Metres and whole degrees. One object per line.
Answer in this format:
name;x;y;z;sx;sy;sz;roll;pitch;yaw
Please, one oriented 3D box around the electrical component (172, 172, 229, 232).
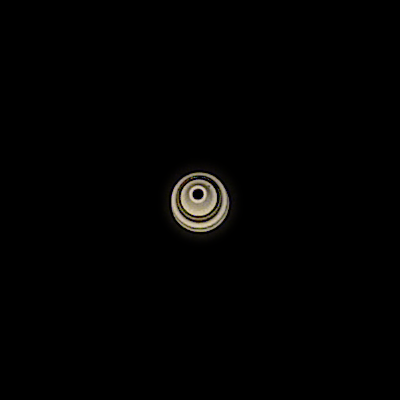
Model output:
electrical component;0.000;0.000;0.637;0.035;0.035;0.061;0;-7;1
